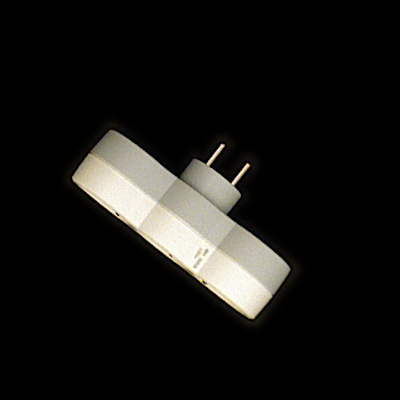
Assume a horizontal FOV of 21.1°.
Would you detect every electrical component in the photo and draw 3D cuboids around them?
[{"bbox_3d":[0.000,0.000,0.639,0.138,0.074,0.052,38,-6,3],"label":"electrical component"}]
